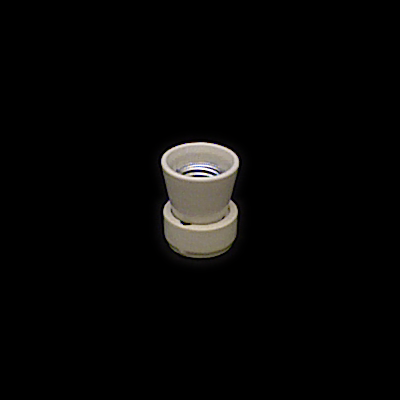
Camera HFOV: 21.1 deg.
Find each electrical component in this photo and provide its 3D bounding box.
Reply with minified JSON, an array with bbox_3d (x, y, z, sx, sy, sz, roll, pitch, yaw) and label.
[{"bbox_3d":[0.000,0.000,0.634,0.045,0.056,0.044,1,31,0],"label":"electrical component"}]
